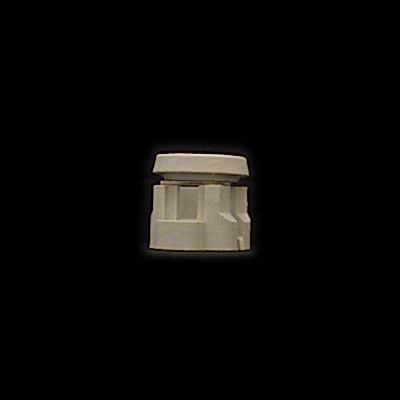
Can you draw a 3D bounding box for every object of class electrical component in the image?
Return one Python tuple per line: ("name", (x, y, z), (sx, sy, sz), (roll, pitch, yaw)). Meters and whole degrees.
("electrical component", (0.000, 0.000, 0.652), (0.057, 0.057, 0.079), (2, 0, 25))
